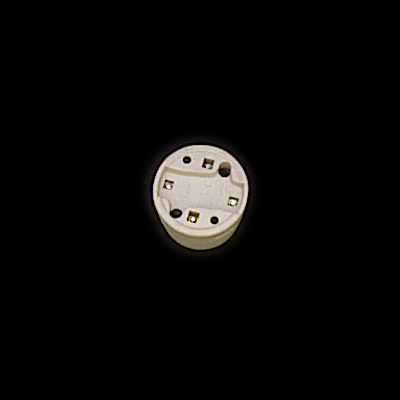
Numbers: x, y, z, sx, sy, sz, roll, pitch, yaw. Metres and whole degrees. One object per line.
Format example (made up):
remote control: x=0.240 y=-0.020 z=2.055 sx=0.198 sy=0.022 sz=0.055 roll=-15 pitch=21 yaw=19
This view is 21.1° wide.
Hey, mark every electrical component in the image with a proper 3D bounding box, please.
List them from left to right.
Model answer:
electrical component: x=0.000 y=0.000 z=0.635 sx=0.055 sy=0.056 sz=0.047 roll=0 pitch=-17 yaw=1
